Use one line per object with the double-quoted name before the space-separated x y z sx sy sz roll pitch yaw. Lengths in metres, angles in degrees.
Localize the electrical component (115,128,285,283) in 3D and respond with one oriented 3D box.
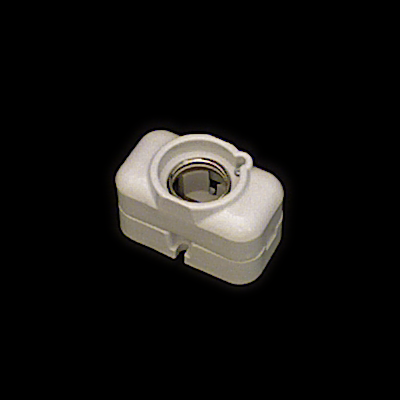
"electrical component" 0.000 0.000 0.636 0.095 0.053 0.059 23 -33 15
